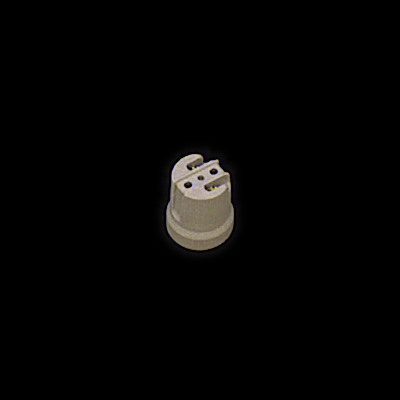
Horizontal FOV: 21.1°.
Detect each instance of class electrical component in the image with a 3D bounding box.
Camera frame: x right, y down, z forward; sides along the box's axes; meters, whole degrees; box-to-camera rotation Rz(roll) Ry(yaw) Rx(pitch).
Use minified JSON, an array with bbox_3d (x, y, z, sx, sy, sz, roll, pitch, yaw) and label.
[{"bbox_3d":[0.000,0.000,0.634,0.040,0.040,0.046,0,-37,-1],"label":"electrical component"}]
